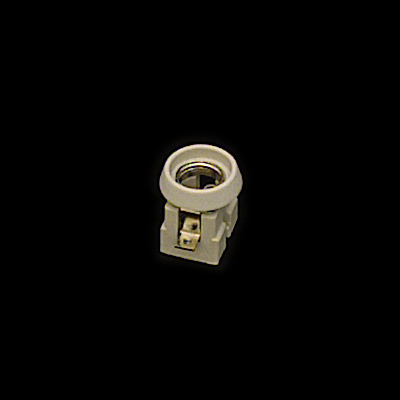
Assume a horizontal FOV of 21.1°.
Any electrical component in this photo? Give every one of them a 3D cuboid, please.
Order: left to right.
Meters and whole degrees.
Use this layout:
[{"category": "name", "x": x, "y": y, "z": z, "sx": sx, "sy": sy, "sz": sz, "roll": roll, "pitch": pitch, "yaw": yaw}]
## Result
[{"category": "electrical component", "x": 0.000, "y": 0.000, "z": 0.639, "sx": 0.048, "sy": 0.056, "sz": 0.066, "roll": 10, "pitch": 43, "yaw": 13}]
